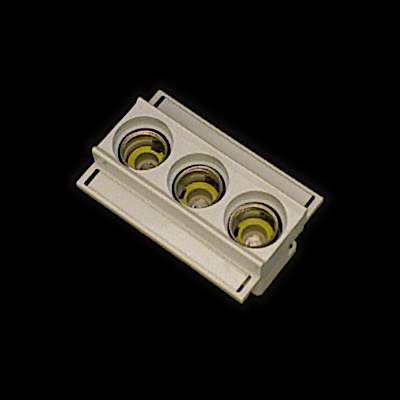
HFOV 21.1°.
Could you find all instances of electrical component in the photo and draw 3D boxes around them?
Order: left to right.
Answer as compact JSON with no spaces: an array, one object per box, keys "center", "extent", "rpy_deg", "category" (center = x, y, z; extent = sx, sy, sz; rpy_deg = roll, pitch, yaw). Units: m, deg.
[{"center":[0.000,0.000,0.637],"extent":[0.121,0.079,0.063],"rpy_deg":[35,-20,16],"category":"electrical component"}]
